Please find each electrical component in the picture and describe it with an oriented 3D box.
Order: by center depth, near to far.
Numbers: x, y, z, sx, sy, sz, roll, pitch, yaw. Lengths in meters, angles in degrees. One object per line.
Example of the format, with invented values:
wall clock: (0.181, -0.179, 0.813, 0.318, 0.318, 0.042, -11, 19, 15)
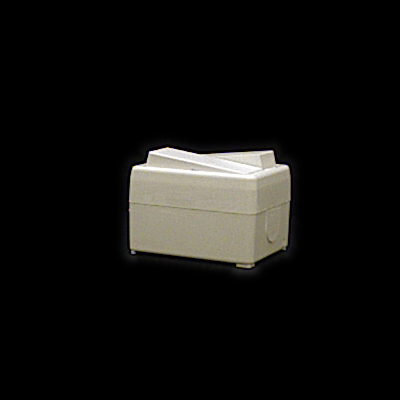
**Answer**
electrical component: (0.000, 0.000, 0.645, 0.096, 0.061, 0.061, 6, 12, 25)
